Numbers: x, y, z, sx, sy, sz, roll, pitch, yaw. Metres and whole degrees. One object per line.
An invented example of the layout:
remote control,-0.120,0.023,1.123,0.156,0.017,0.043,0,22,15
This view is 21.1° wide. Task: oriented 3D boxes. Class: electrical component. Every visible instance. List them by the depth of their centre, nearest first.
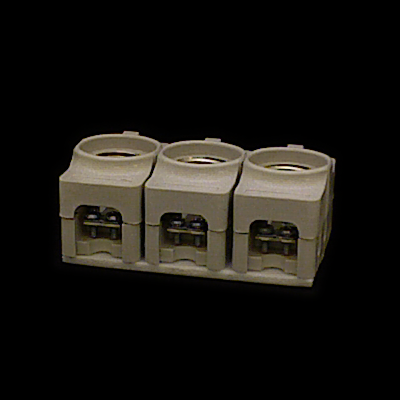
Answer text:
electrical component,0.000,0.000,0.647,0.150,0.063,0.088,6,20,11
